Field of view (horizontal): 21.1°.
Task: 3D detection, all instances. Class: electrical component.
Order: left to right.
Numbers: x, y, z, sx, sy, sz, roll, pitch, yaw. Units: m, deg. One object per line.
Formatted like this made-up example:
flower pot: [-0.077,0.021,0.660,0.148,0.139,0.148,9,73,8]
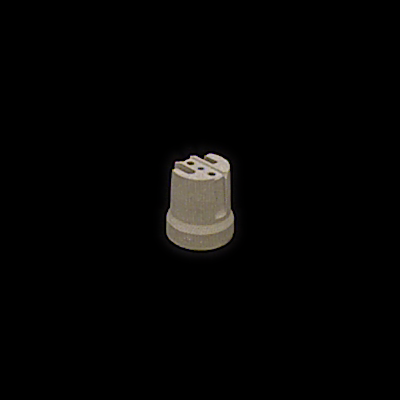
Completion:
electrical component: [0.000,0.000,0.639,0.040,0.046,0.040,1,32,-1]
